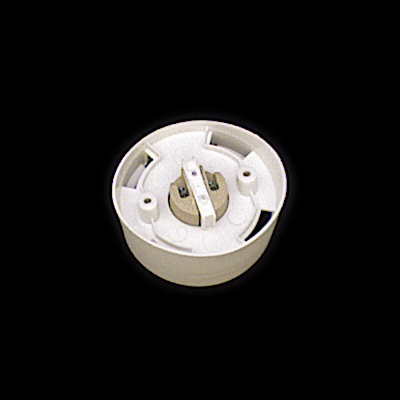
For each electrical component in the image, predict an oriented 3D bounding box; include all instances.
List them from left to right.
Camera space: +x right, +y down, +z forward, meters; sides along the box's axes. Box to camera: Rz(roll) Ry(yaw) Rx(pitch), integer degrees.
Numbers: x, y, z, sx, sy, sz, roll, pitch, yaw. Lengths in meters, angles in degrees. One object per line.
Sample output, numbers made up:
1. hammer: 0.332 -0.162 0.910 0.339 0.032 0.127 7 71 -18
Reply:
1. electrical component: 0.000 0.000 0.624 0.099 0.099 0.064 0 -27 -1
